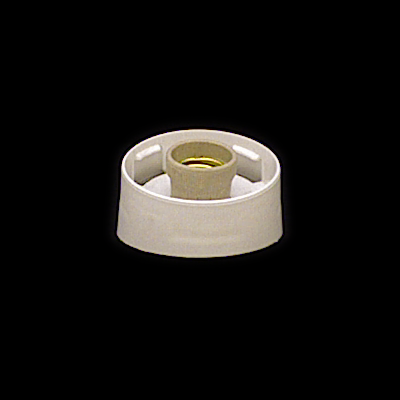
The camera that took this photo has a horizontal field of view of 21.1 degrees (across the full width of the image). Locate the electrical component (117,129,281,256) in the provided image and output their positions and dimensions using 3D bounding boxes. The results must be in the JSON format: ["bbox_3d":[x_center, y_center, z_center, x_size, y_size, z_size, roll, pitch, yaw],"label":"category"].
[{"bbox_3d":[0.000,0.000,0.633,0.099,0.065,0.097,1,31,0],"label":"electrical component"}]
